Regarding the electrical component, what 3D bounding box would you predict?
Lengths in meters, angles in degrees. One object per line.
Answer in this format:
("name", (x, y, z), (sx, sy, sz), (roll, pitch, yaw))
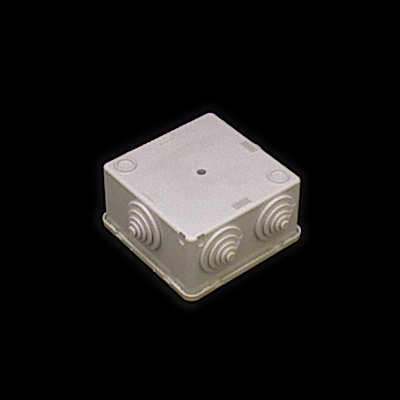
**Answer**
("electrical component", (0.000, 0.000, 0.633), (0.100, 0.049, 0.099), (-28, 50, -28))
